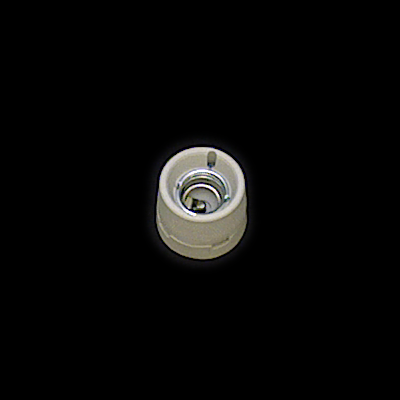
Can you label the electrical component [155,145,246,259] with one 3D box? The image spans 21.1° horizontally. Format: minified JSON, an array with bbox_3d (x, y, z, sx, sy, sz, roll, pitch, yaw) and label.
[{"bbox_3d":[0.000,0.000,0.633,0.055,0.055,0.047,0,-28,-1],"label":"electrical component"}]
